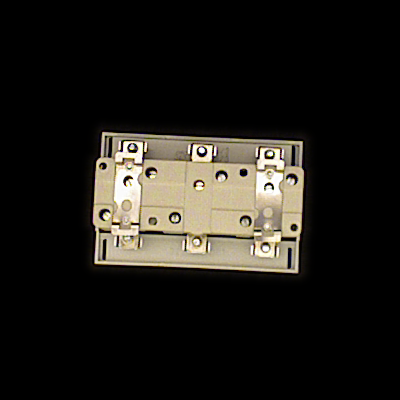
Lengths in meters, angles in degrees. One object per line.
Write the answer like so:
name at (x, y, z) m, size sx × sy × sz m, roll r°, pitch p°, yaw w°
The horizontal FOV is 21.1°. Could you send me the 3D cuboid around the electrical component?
electrical component at (0.000, 0.000, 0.634) m, size 0.121 × 0.079 × 0.063 m, roll 2°, pitch -5°, yaw 1°
